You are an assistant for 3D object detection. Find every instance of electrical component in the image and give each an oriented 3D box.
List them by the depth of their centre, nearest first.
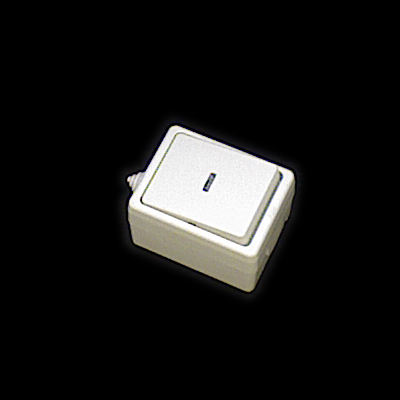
[{"bbox_3d":[0.000,0.000,0.627,0.096,0.062,0.061,22,-25,11],"label":"electrical component"}]
